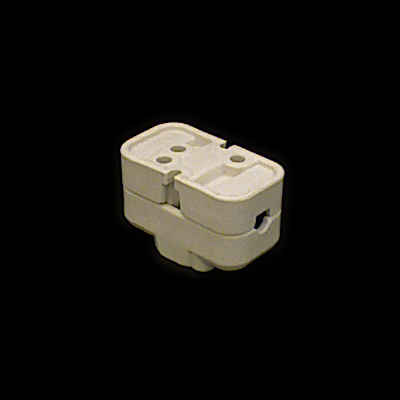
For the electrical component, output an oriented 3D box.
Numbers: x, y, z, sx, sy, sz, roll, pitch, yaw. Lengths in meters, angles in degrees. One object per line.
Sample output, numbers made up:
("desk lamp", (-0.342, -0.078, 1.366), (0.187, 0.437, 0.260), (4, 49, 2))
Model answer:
("electrical component", (0.000, 0.000, 0.639), (0.094, 0.060, 0.054), (26, 40, 33))
